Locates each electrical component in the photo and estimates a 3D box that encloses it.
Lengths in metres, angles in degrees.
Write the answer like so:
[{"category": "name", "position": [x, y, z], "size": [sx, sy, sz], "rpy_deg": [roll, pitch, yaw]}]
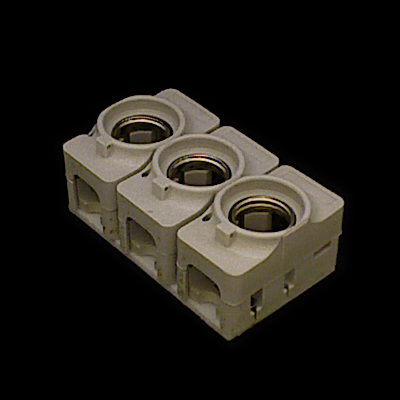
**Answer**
[{"category": "electrical component", "position": [0.000, 0.000, 0.635], "size": [0.089, 0.063, 0.148], "rpy_deg": [-32, 51, -30]}]
